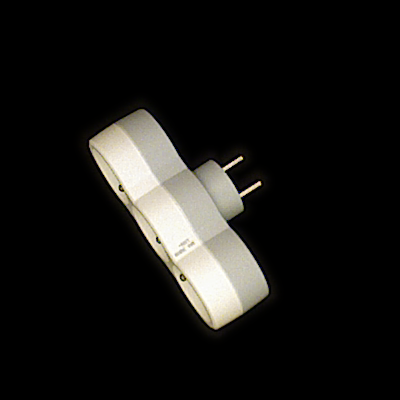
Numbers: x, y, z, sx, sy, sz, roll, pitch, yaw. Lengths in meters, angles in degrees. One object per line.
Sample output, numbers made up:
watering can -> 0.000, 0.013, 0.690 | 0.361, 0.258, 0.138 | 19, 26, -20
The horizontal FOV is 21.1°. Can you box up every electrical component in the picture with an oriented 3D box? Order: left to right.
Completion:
electrical component -> 0.000, 0.000, 0.638 | 0.074, 0.138, 0.052 | -33, -14, -10
